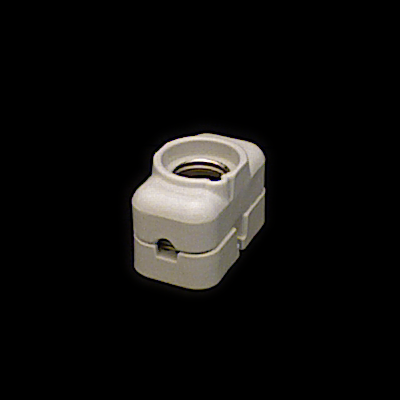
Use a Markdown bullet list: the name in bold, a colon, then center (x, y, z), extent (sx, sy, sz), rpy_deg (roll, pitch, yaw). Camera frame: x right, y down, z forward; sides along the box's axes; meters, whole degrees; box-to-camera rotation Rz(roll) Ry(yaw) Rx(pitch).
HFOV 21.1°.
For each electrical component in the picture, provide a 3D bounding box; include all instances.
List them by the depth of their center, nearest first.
- **electrical component**: center (0.000, 0.000, 0.641), extent (0.053, 0.060, 0.094), rpy_deg (14, 35, 21)
